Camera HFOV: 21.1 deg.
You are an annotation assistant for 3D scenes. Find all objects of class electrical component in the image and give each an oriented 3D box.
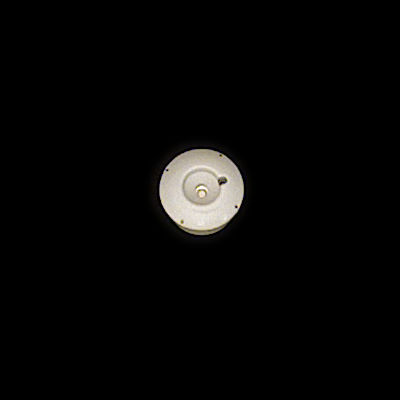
[{"bbox_3d":[0.000,0.000,0.634,0.048,0.048,0.062,0,-16,1],"label":"electrical component"}]
